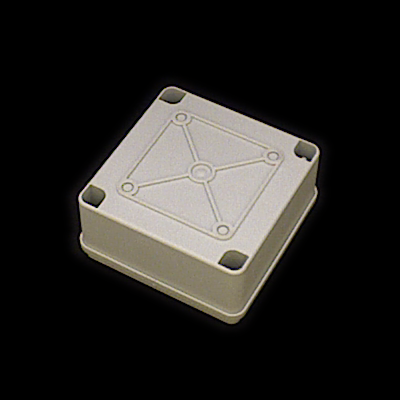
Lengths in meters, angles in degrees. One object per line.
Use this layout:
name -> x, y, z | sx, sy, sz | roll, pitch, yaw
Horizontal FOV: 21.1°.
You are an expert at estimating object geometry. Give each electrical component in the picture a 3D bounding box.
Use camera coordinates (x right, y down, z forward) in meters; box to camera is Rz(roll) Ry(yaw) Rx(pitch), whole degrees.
electrical component -> 0.000, 0.000, 0.631 | 0.108, 0.108, 0.056 | 24, -34, 16
